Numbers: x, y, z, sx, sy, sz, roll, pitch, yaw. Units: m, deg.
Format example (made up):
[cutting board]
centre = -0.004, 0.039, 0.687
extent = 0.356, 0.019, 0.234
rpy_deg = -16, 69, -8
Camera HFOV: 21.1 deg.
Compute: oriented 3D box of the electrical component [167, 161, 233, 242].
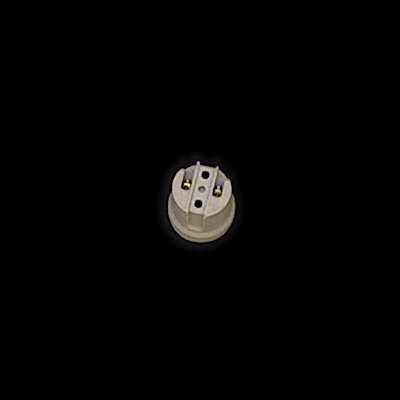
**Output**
[electrical component]
centre = 0.000, 0.000, 0.634
extent = 0.040, 0.040, 0.046
rpy_deg = 0, -16, 0
